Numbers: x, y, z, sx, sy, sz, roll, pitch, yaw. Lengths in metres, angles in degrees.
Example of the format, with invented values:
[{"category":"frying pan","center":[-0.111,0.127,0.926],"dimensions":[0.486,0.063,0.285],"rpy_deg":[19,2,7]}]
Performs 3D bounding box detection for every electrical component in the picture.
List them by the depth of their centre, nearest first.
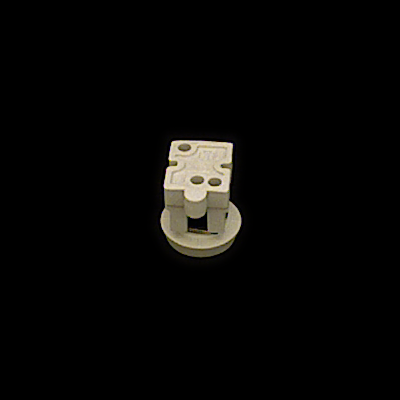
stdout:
[{"category":"electrical component","center":[0.000,0.000,0.640],"dimensions":[0.048,0.056,0.066],"rpy_deg":[3,42,4]}]
